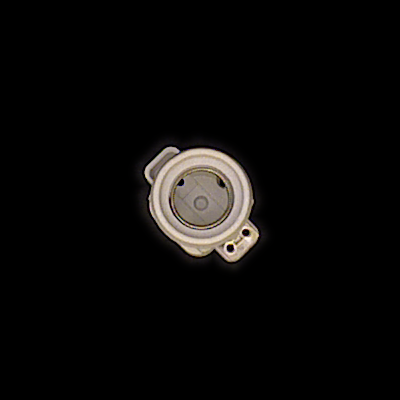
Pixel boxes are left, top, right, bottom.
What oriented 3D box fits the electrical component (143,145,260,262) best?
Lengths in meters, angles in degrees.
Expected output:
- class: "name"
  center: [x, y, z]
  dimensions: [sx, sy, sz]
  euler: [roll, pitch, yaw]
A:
- class: "electrical component"
  center: [0.000, 0.000, 0.630]
  dimensions: [0.058, 0.078, 0.056]
  euler: [-44, -5, -4]
